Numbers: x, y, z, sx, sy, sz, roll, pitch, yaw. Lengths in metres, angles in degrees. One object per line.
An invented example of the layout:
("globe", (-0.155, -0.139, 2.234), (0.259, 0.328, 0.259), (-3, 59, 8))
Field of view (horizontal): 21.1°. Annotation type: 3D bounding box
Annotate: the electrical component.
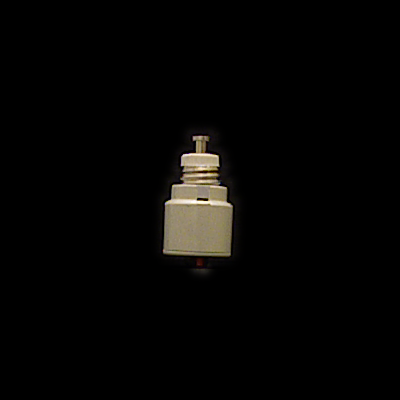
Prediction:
("electrical component", (0.000, 0.000, 0.649), (0.040, 0.078, 0.040), (2, 1, 0))
